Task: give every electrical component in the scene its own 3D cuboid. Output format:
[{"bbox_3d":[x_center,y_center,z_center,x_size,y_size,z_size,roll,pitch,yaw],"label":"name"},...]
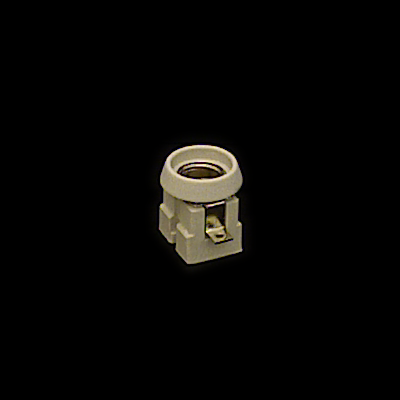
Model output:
[{"bbox_3d":[0.000,0.000,0.643,0.048,0.056,0.065,-16,36,-22],"label":"electrical component"}]
